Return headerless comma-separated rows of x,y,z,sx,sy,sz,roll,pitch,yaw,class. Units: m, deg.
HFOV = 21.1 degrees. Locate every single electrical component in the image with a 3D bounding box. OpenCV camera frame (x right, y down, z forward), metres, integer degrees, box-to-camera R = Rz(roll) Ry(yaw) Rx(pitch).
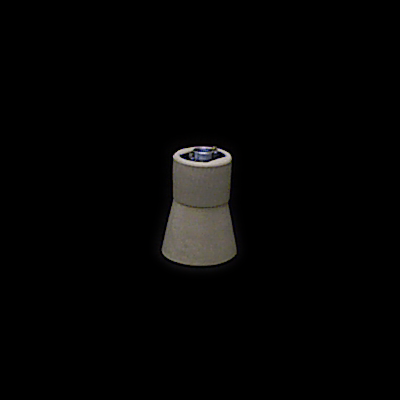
0.000,0.000,0.636,0.044,0.066,0.044,2,22,-1,electrical component
